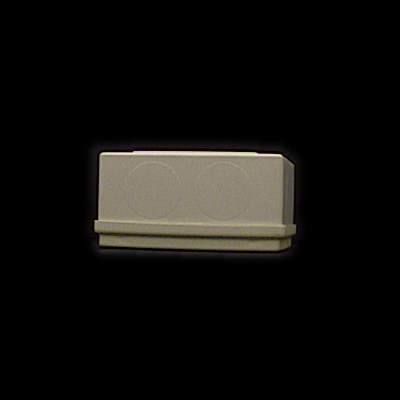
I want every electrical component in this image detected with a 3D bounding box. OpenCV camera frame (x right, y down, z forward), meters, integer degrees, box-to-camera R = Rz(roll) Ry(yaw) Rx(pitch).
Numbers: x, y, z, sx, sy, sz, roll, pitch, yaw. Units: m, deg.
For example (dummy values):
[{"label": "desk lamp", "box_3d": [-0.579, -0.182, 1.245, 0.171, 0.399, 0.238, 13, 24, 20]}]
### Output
[{"label": "electrical component", "box_3d": [0.000, 0.000, 0.650, 0.108, 0.056, 0.109, 1, 0, 8]}]
